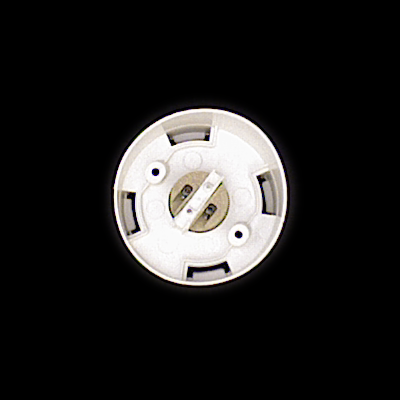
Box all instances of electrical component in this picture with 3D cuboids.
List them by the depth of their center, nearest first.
[{"bbox_3d":[0.000,0.000,0.624,0.099,0.099,0.064,0,-8,0],"label":"electrical component"}]
